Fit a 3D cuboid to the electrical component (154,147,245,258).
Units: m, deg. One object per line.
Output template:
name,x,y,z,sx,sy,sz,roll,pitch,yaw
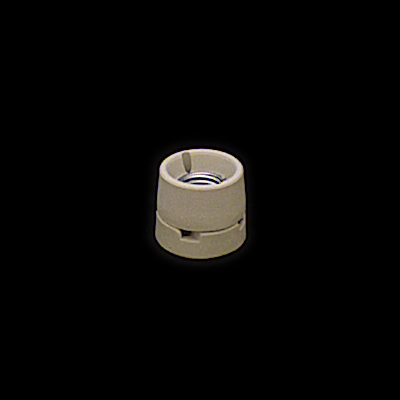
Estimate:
electrical component,0.000,0.000,0.639,0.055,0.047,0.055,1,30,0
